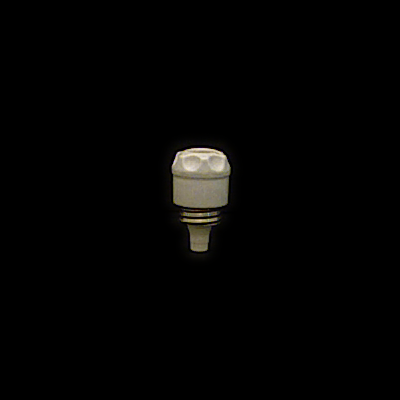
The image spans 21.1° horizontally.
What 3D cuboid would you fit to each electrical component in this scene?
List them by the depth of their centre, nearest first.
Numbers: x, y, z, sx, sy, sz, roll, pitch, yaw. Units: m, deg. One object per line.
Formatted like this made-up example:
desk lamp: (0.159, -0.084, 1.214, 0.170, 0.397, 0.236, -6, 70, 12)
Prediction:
electrical component: (0.000, 0.000, 0.649, 0.035, 0.062, 0.035, 1, 12, 0)
